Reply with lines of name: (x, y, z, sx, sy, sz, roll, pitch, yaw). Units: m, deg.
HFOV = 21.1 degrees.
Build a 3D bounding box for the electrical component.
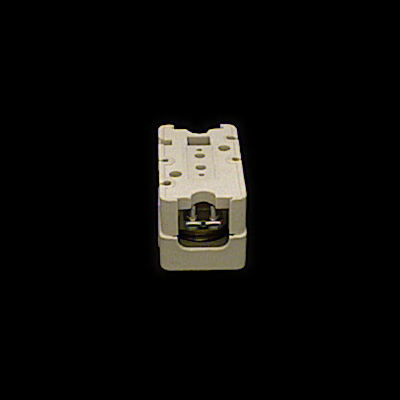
electrical component: (0.000, 0.000, 0.642, 0.050, 0.056, 0.088, -1, 32, -2)
